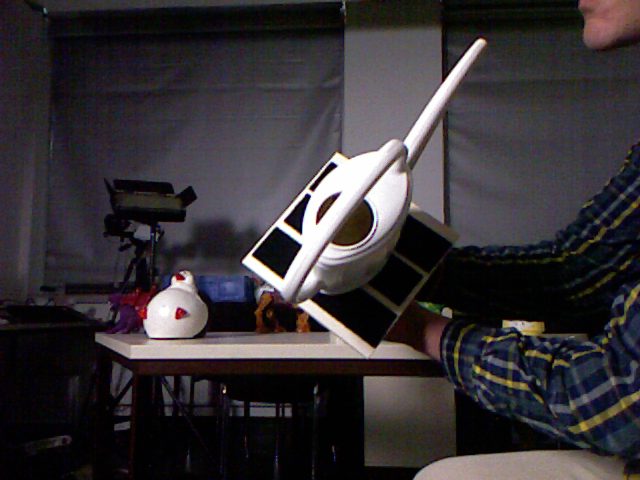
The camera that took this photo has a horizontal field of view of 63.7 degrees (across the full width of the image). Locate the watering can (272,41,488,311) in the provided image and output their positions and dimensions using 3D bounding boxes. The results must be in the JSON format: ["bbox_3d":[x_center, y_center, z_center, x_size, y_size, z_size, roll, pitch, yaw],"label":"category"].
[{"bbox_3d":[0.071,-0.052,0.595,0.106,0.354,0.223,38,-12,12],"label":"watering can"}]
